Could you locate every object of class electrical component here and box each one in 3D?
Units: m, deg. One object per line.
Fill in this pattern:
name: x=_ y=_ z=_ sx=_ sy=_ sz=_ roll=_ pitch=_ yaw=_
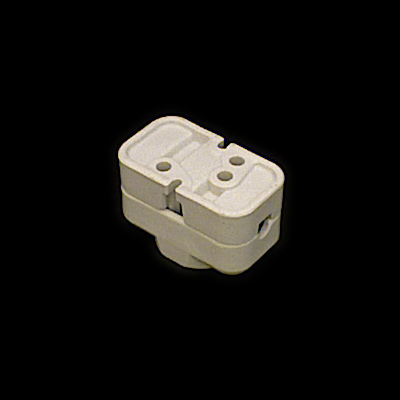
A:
electrical component: x=0.000 y=0.000 z=0.640 sx=0.094 sy=0.060 sz=0.054 roll=28 pitch=49 yaw=27
